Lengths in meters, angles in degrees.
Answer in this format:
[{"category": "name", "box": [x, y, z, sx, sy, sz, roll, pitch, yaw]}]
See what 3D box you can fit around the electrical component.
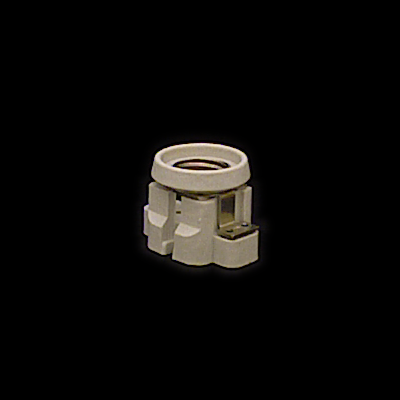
[{"category": "electrical component", "box": [0.000, 0.000, 0.639, 0.078, 0.057, 0.057, 21, 28, 41]}]
